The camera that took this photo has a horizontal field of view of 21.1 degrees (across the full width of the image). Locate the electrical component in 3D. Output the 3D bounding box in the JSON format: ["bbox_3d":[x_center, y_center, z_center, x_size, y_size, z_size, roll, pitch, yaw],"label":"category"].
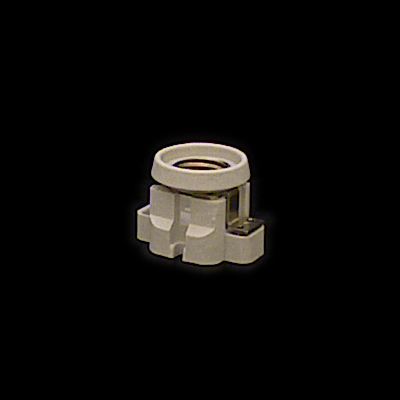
[{"bbox_3d":[0.000,0.000,0.639,0.078,0.057,0.057,13,24,27],"label":"electrical component"}]
